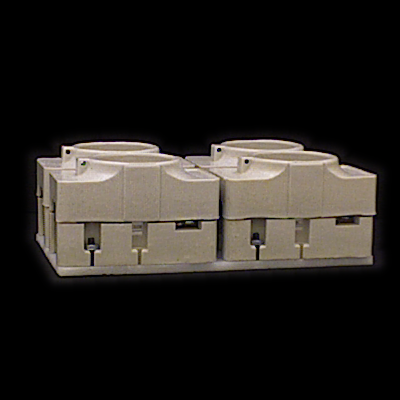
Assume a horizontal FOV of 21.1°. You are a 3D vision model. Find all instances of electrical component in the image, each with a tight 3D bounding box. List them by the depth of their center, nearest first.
[{"bbox_3d":[0.000,0.000,0.643,0.186,0.061,0.104,-2,11,-15],"label":"electrical component"}]
